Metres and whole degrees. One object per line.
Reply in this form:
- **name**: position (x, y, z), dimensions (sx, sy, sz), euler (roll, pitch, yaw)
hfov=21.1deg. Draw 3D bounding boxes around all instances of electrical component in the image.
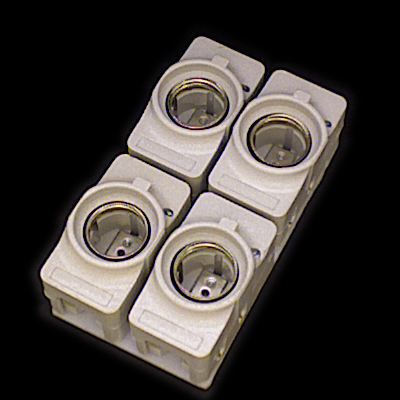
- **electrical component**: position (0.000, 0.000, 0.626), dimensions (0.105, 0.187, 0.060), euler (25, -25, 12)
